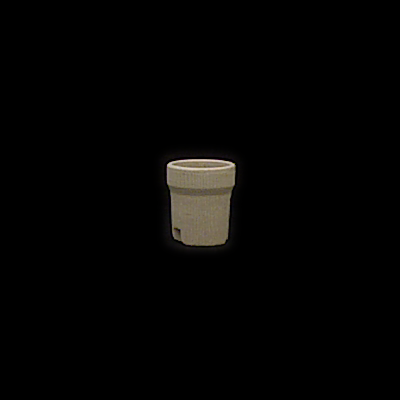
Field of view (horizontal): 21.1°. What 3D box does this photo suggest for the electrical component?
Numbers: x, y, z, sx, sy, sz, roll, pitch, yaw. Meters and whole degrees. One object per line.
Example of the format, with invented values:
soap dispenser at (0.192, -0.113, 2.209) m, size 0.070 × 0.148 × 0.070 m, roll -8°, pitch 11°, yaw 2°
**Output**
electrical component at (0.000, 0.000, 0.644) m, size 0.040 × 0.046 × 0.040 m, roll 1°, pitch 11°, yaw 0°
